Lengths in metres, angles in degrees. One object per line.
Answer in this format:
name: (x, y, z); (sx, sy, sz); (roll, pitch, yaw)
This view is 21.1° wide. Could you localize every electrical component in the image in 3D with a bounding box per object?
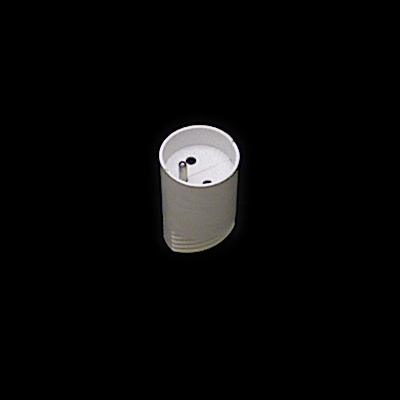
electrical component: (0.000, 0.000, 0.617); (0.043, 0.043, 0.081); (0, -38, 1)
